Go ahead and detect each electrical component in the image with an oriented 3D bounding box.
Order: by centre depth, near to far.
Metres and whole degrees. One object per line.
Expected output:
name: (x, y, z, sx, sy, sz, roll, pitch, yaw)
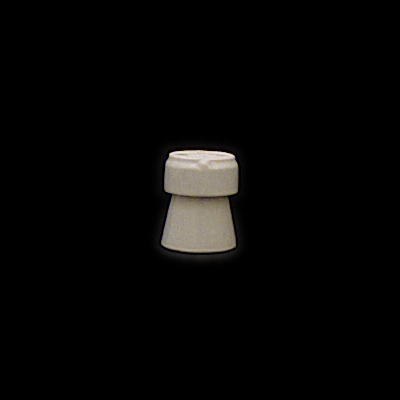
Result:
electrical component: (0.000, 0.000, 0.645, 0.045, 0.055, 0.044, 2, 12, 0)
